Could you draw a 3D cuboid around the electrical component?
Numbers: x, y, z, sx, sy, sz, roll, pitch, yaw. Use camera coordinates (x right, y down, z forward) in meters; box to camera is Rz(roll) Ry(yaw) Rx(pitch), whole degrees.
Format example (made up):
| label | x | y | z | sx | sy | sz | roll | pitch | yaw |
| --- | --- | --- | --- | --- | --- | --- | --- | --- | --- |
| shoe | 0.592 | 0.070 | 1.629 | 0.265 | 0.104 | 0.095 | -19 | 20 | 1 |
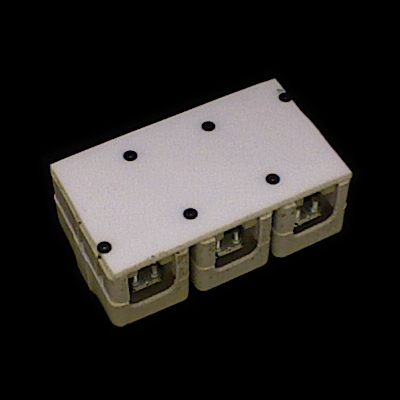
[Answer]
| label | x | y | z | sx | sy | sz | roll | pitch | yaw |
| --- | --- | --- | --- | --- | --- | --- | --- | --- | --- |
| electrical component | 0.000 | 0.000 | 0.631 | 0.150 | 0.088 | 0.062 | -22 | -35 | -16 |
